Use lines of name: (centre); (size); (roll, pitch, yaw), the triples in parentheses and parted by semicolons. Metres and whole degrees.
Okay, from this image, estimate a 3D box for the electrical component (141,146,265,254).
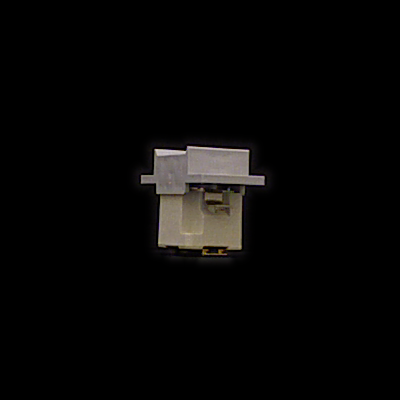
electrical component: (0.000, 0.000, 0.651); (0.042, 0.064, 0.080); (-1, 2, -28)
